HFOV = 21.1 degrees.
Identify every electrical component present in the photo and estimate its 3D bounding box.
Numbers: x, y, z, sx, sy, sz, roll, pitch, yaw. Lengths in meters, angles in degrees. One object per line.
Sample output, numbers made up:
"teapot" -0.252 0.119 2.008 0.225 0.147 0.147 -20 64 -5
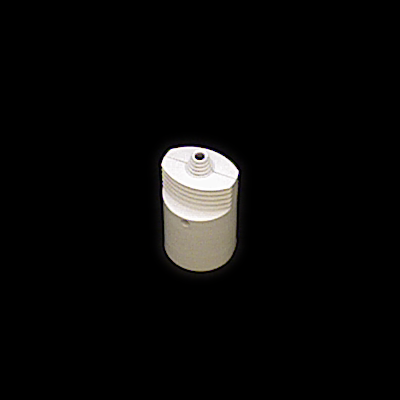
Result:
"electrical component" 0.000 0.000 0.620 0.043 0.043 0.081 0 -38 0
